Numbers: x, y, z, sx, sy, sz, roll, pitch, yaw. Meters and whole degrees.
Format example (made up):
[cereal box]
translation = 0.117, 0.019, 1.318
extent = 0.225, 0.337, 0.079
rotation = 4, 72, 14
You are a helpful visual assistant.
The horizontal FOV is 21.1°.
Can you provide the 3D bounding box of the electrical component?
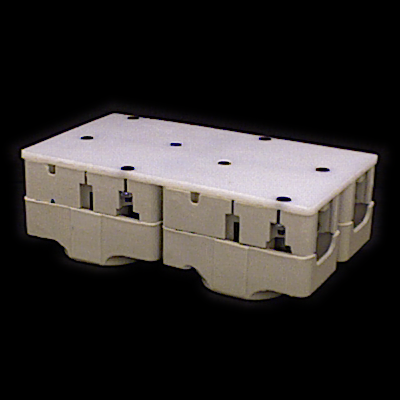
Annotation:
[electrical component]
translation = 0.000, 0.000, 0.638
extent = 0.185, 0.061, 0.104
rotation = 11, 23, 25
